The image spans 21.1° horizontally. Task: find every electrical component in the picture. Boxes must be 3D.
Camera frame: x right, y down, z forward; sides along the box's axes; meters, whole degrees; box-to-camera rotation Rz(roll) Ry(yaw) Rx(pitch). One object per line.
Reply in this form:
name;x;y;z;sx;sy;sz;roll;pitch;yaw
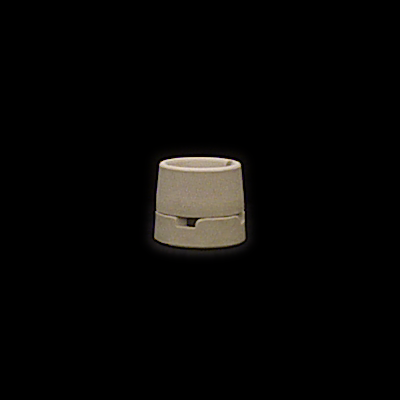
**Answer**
electrical component;0.000;0.000;0.645;0.055;0.047;0.055;0;11;0
